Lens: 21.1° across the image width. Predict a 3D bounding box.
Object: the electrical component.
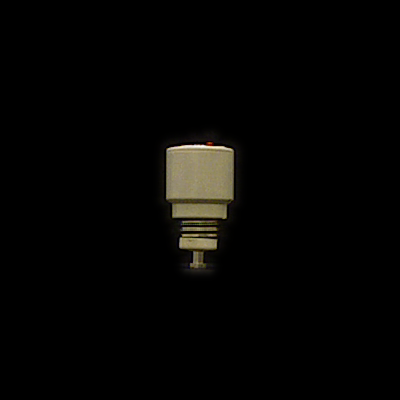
[{"bbox_3d":[0.000,0.000,0.651,0.040,0.078,0.040,1,1,0],"label":"electrical component"}]
